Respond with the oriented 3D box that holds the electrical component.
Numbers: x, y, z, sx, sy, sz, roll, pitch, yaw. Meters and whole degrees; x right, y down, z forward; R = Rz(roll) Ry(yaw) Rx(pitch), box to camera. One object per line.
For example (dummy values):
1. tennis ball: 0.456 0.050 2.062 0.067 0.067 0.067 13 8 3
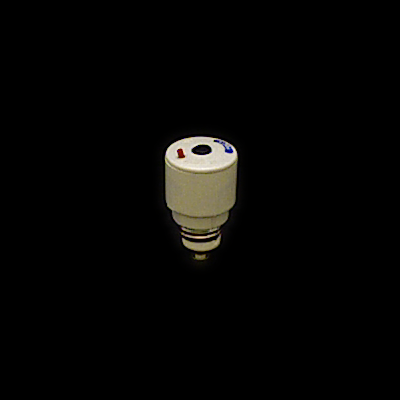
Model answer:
1. electrical component: 0.000 0.000 0.629 0.040 0.079 0.039 0 32 0
